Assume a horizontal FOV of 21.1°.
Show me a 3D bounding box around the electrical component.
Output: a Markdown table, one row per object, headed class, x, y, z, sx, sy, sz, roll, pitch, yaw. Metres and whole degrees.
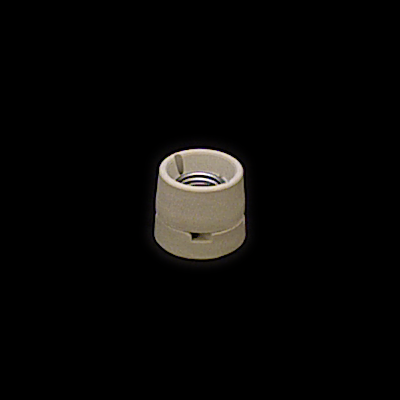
| class | x | y | z | sx | sy | sz | roll | pitch | yaw |
| --- | --- | --- | --- | --- | --- | --- | --- | --- | --- |
| electrical component | 0.000 | 0.000 | 0.637 | 0.055 | 0.047 | 0.055 | 1 | 32 | -1 |
